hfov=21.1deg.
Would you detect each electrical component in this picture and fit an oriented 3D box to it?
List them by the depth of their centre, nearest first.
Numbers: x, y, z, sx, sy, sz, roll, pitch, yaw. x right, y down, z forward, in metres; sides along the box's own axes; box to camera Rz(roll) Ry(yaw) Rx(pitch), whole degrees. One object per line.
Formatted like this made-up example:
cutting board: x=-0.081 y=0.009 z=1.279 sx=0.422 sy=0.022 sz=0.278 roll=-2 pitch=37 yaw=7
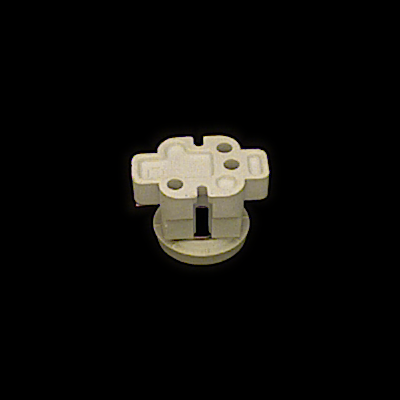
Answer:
electrical component: x=0.000 y=0.000 z=0.638 sx=0.078 sy=0.057 sz=0.057 roll=-4 pitch=43 yaw=-3
